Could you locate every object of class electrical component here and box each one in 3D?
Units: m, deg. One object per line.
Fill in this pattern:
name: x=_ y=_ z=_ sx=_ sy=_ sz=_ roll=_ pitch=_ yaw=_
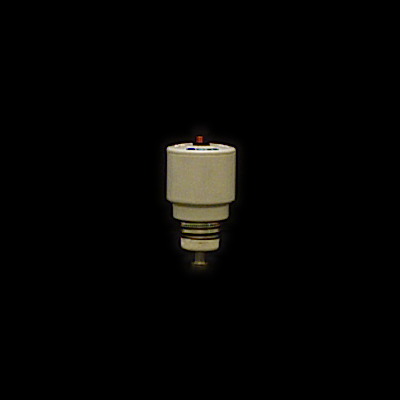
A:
electrical component: x=0.000 y=0.000 z=0.645 sx=0.040 sy=0.079 sz=0.040 roll=1 pitch=11 yaw=0
